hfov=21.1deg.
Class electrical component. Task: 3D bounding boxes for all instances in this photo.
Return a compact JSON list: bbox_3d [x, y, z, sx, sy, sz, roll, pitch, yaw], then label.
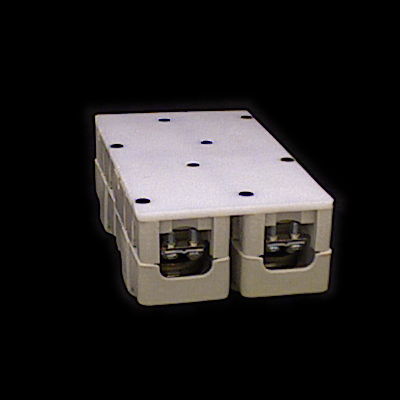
[{"bbox_3d":[0.000,0.000,0.638,0.105,0.061,0.183,-4,21,-12],"label":"electrical component"}]
